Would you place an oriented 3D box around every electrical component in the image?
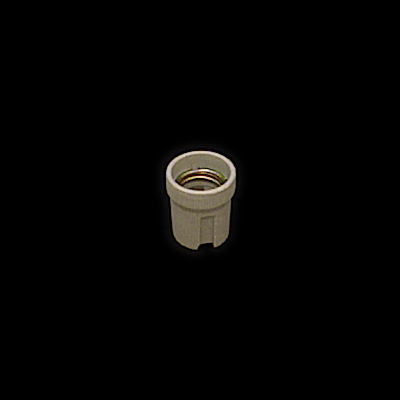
[{"bbox_3d":[0.000,0.000,0.635,0.040,0.047,0.039,1,42,0],"label":"electrical component"}]
